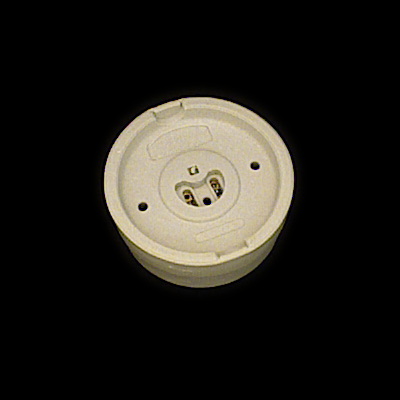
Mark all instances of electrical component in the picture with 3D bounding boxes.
[{"bbox_3d":[0.000,0.000,0.634,0.108,0.108,0.060,0,-26,0],"label":"electrical component"}]
